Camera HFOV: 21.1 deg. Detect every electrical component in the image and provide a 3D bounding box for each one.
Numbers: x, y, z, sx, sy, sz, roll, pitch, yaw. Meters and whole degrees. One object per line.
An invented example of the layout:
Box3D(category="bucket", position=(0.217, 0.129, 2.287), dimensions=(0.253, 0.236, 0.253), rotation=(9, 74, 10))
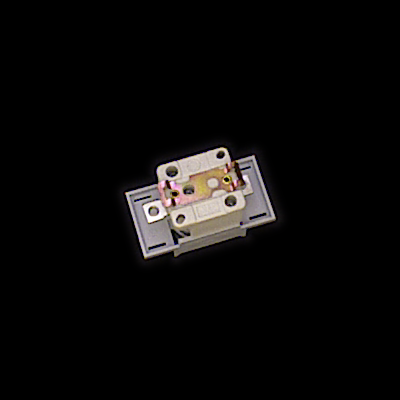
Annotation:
Box3D(category="electrical component", position=(0.000, 0.000, 0.625), dimensions=(0.081, 0.042, 0.063), rotation=(-17, -16, -5))
